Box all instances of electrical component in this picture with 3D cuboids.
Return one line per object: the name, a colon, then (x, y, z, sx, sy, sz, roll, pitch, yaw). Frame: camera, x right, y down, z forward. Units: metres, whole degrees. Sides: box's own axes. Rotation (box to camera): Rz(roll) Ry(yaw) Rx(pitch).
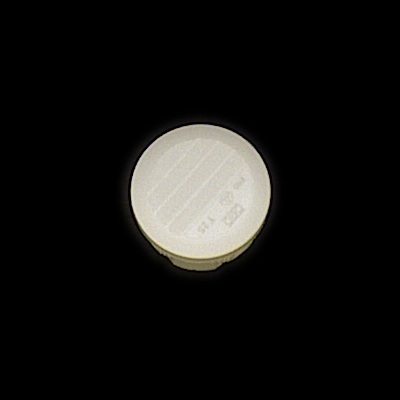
electrical component: (0.000, 0.000, 0.629, 0.080, 0.080, 0.050, 0, -17, 0)
